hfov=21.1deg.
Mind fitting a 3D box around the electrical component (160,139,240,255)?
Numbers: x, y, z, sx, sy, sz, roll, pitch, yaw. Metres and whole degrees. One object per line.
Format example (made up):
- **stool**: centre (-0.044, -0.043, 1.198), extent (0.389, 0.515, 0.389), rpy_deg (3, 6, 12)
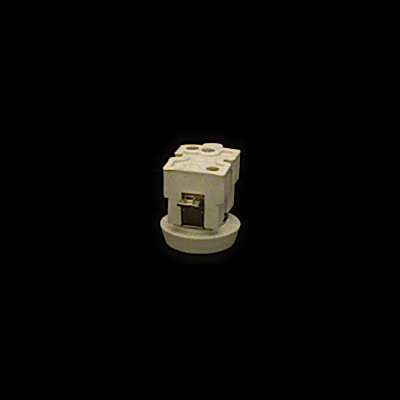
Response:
- **electrical component**: centre (0.000, 0.000, 0.648), extent (0.048, 0.056, 0.066), rpy_deg (7, 24, 13)
